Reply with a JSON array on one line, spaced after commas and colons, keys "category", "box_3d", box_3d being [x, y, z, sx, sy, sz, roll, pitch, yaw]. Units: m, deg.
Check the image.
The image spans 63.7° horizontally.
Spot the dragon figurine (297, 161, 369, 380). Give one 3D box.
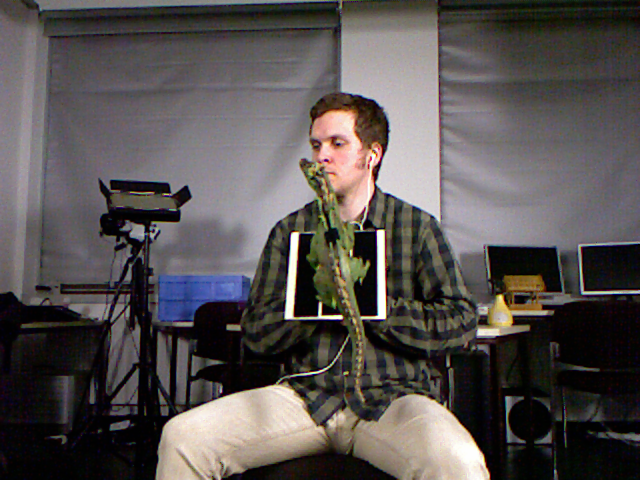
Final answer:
[{"category": "dragon figurine", "box_3d": [0.028, 0.033, 0.946, 0.122, 0.420, 0.239, -17, -26, 1]}]
